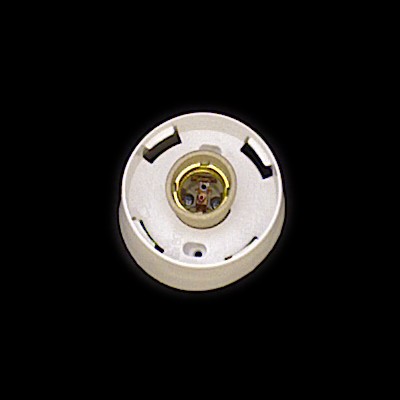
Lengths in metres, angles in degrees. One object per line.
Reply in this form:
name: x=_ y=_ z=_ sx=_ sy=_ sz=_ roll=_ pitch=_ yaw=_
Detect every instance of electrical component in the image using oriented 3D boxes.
electrical component: x=0.000 y=0.000 z=0.625 sx=0.099 sy=0.099 sz=0.064 roll=0 pitch=-17 yaw=0
